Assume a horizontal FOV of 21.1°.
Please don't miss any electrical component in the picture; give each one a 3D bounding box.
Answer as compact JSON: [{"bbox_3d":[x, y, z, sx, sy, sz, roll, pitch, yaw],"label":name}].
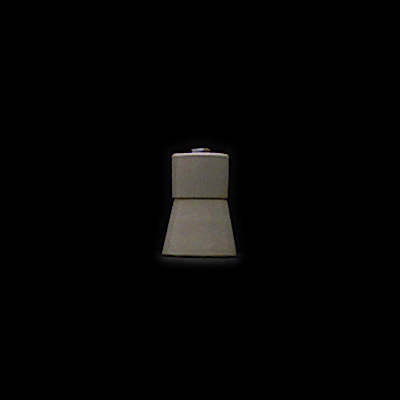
[{"bbox_3d":[0.000,0.000,0.650,0.044,0.065,0.044,0,2,0],"label":"electrical component"}]
